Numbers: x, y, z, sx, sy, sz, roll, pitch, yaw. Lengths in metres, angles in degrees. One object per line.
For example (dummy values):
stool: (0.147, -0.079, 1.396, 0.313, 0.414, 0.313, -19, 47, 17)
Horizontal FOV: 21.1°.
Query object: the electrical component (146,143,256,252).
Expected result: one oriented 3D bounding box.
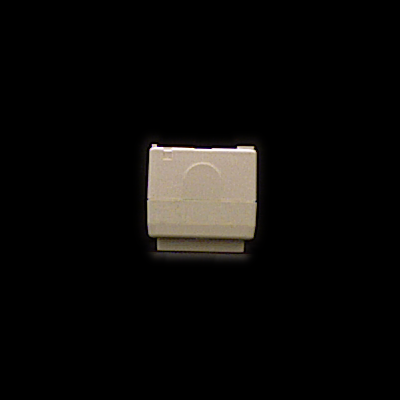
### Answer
electrical component: (0.000, 0.000, 0.651, 0.062, 0.061, 0.096, 1, -1, -1)
